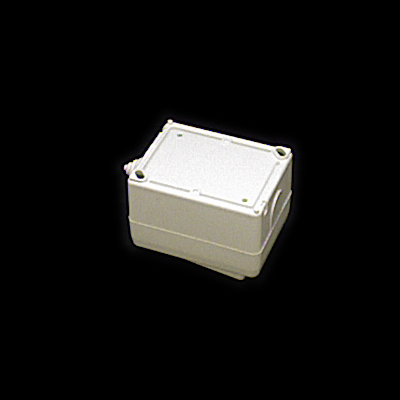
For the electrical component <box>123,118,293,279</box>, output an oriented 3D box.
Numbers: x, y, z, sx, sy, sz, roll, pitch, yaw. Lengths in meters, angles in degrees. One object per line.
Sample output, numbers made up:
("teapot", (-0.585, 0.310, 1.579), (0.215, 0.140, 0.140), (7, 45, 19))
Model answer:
("electrical component", (0.000, -0.001, 0.631), (0.096, 0.061, 0.061), (15, 44, 15))
